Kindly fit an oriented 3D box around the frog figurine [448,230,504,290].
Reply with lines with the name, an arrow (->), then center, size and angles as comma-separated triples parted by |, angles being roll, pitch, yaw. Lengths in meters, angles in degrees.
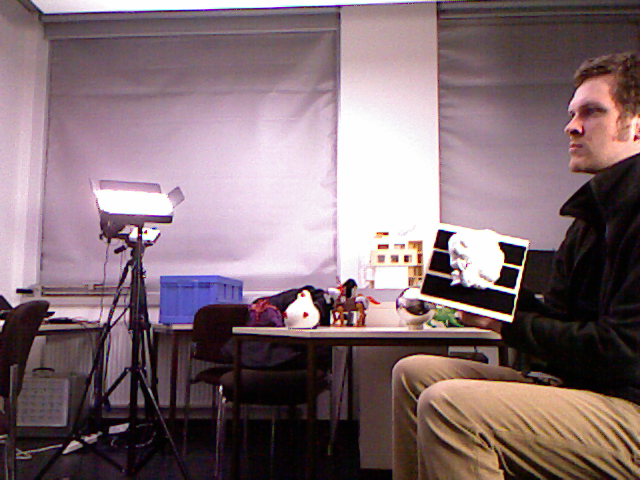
frog figurine -> 0.337, 0.033, 1.111 | 0.124, 0.139, 0.157 | 41, -11, 23
